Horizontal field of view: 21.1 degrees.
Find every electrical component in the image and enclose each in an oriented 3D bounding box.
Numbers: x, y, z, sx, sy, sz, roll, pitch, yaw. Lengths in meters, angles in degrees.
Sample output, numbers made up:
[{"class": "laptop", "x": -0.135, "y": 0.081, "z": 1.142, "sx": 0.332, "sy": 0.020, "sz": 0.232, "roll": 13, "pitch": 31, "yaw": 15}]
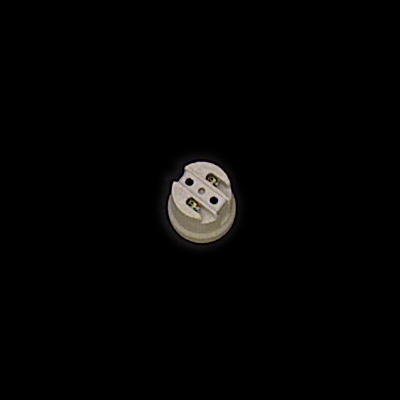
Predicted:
[{"class": "electrical component", "x": 0.000, "y": 0.000, "z": 0.632, "sx": 0.040, "sy": 0.040, "sz": 0.046, "roll": 0, "pitch": -16, "yaw": 1}]
